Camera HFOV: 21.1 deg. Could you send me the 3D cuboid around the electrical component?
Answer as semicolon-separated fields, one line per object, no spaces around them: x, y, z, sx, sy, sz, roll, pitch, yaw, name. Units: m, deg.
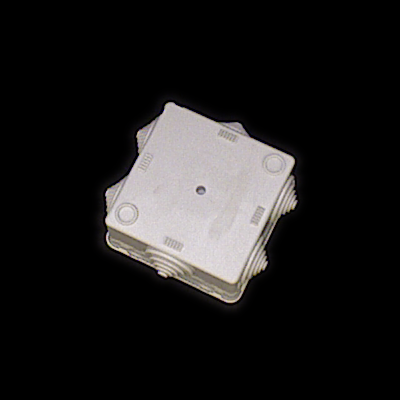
0.000;0.000;0.632;0.099;0.100;0.048;25;-15;7;electrical component
